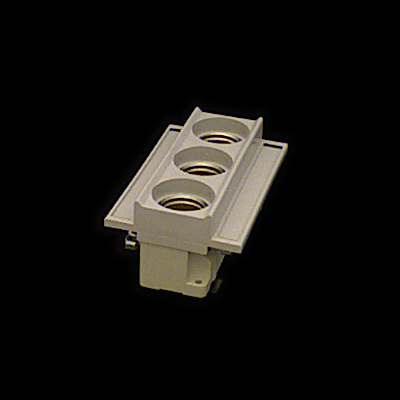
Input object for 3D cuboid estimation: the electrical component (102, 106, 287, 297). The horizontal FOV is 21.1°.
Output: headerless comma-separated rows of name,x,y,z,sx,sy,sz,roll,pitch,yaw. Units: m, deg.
electrical component,0.000,0.000,0.647,0.078,0.064,0.120,11,33,13
